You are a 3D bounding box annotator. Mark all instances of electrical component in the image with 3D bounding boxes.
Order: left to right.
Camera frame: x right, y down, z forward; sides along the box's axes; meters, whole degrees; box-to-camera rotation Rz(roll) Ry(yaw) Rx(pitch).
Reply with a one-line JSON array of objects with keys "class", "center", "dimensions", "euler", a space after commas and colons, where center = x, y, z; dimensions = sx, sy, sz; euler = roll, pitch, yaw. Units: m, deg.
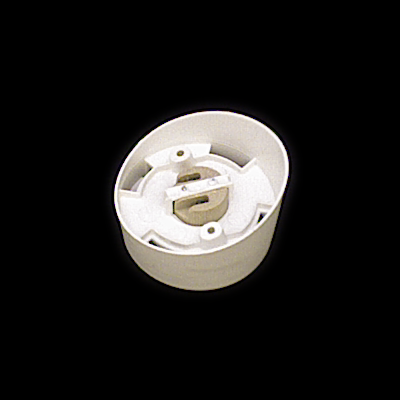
[{"class": "electrical component", "center": [0.000, 0.000, 0.626], "dimensions": [0.099, 0.098, 0.064], "euler": [0, -38, -1]}]
